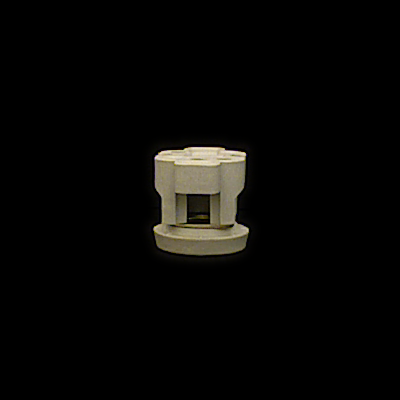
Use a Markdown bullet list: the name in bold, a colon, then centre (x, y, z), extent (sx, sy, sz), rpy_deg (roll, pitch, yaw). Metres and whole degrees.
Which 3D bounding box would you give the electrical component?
- **electrical component**: centre (0.000, 0.000, 0.653), extent (0.058, 0.057, 0.078), rpy_deg (1, 10, 2)
